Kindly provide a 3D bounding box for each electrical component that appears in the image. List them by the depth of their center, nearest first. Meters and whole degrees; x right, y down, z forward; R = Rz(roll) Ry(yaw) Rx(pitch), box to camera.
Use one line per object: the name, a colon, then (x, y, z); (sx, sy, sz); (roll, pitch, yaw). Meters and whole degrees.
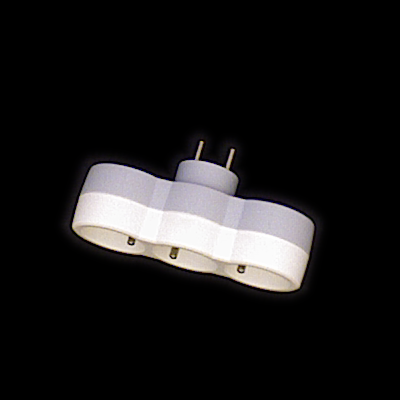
electrical component: (0.000, 0.000, 0.631); (0.138, 0.074, 0.052); (14, -18, 5)
